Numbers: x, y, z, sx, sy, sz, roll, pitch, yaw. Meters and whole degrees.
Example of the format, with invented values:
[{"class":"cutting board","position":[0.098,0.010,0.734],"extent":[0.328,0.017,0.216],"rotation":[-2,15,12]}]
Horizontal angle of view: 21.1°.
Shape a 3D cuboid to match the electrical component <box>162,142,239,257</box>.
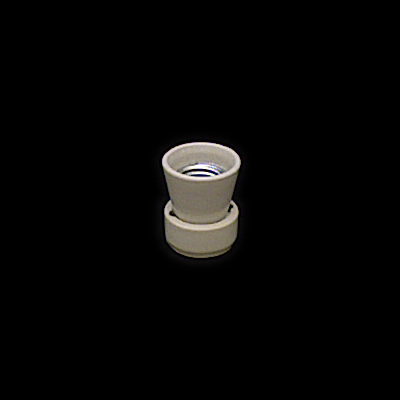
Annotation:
[{"class":"electrical component","position":[0.000,0.000,0.635],"extent":[0.045,0.056,0.044],"rotation":[1,31,0]}]
